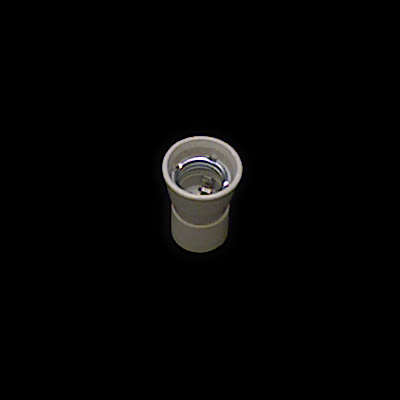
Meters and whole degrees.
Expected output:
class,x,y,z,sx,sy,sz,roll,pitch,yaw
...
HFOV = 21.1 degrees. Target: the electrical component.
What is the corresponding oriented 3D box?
class,x,y,z,sx,sy,sz,roll,pitch,yaw
electrical component,0.000,0.000,0.626,0.044,0.044,0.065,0,-37,-2
